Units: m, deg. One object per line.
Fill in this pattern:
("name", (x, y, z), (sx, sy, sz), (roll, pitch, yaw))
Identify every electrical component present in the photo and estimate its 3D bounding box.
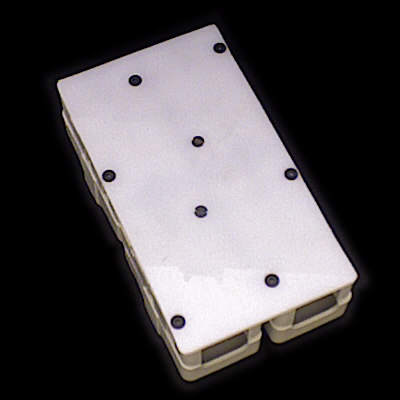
("electrical component", (0.000, 0.000, 0.625), (0.106, 0.186, 0.060), (-22, -25, -11))
